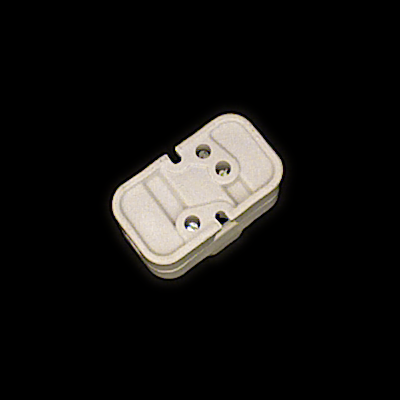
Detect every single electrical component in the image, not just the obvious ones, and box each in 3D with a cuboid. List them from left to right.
[{"bbox_3d":[0.000,0.000,0.635,0.095,0.053,0.059,-36,-13,-9],"label":"electrical component"}]
